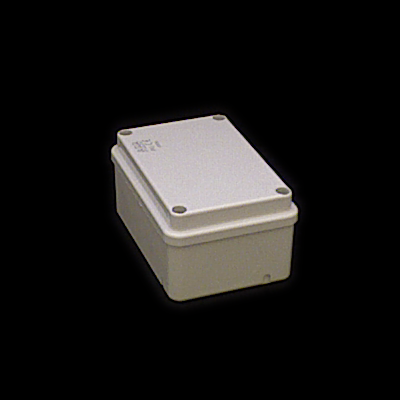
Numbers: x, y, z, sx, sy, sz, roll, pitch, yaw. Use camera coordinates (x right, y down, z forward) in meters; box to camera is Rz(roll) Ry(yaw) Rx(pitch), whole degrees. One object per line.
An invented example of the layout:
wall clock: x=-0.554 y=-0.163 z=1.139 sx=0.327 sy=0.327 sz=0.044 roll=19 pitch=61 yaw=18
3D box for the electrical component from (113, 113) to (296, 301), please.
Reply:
electrical component: x=0.000 y=0.000 z=0.633 sx=0.078 sy=0.058 sz=0.111 roll=-11 pitch=34 yaw=-19
